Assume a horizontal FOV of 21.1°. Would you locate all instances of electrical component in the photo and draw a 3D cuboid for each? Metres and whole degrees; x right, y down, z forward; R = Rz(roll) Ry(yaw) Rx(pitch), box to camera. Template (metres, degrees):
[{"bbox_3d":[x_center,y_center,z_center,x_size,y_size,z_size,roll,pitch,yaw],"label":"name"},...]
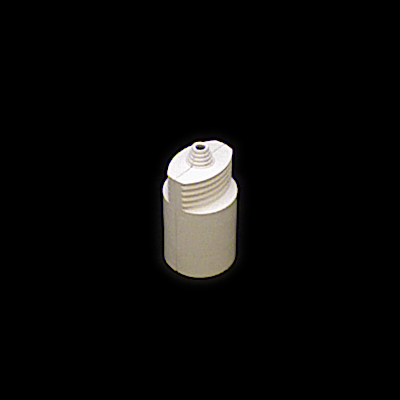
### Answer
[{"bbox_3d":[0.000,0.000,0.624,0.043,0.082,0.042,1,42,0],"label":"electrical component"}]
